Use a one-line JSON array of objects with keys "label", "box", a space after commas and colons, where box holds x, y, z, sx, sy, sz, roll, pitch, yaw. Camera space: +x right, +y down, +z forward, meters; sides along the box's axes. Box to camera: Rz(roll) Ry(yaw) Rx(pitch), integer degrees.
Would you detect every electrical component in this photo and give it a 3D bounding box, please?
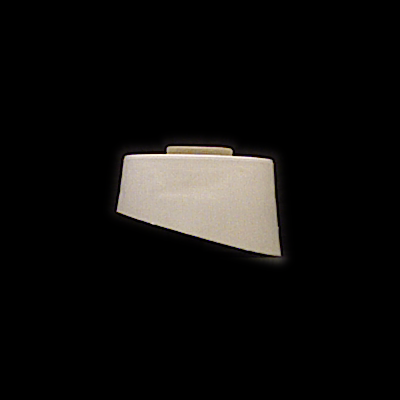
[{"label": "electrical component", "box": [0.000, 0.000, 0.649, 0.099, 0.064, 0.099, 2, 0, 0]}]
